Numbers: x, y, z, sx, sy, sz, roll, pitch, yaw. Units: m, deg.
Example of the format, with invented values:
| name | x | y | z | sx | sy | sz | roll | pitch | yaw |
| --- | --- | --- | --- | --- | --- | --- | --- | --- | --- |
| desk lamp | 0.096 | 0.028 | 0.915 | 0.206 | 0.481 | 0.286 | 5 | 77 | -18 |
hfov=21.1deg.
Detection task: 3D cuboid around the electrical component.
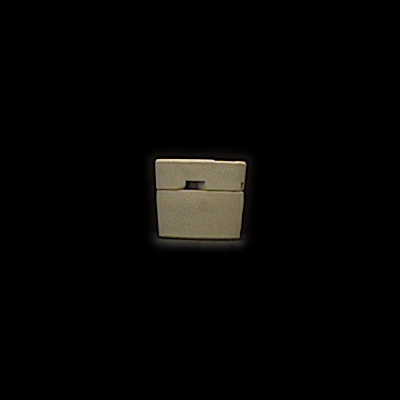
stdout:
| name | x | y | z | sx | sy | sz | roll | pitch | yaw |
| --- | --- | --- | --- | --- | --- | --- | --- | --- | --- |
| electrical component | 0.000 | 0.000 | 0.650 | 0.055 | 0.047 | 0.055 | 1 | 1 | 0 |
